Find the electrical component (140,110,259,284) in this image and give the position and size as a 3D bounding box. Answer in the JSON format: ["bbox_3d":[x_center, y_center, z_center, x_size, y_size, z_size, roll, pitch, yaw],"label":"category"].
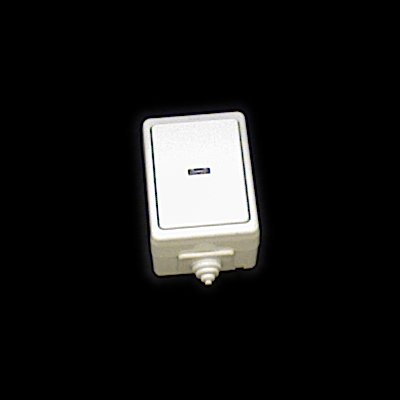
[{"bbox_3d":[0.000,0.000,0.625,0.062,0.096,0.060,-5,-27,-2],"label":"electrical component"}]
